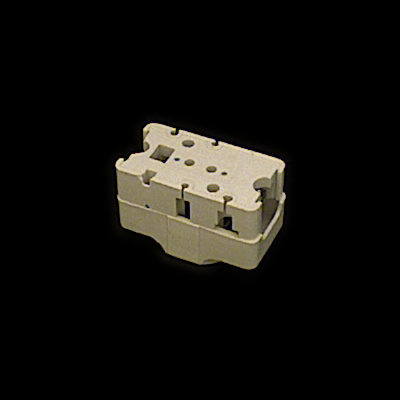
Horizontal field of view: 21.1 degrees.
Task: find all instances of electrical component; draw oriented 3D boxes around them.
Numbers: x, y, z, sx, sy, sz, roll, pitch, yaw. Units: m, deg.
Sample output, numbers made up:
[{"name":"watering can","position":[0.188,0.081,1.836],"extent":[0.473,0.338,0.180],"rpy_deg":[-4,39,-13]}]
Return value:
[{"name":"electrical component","position":[0.000,0.000,0.639],"extent":[0.089,0.056,0.050],"rpy_deg":[17,46,18]}]
